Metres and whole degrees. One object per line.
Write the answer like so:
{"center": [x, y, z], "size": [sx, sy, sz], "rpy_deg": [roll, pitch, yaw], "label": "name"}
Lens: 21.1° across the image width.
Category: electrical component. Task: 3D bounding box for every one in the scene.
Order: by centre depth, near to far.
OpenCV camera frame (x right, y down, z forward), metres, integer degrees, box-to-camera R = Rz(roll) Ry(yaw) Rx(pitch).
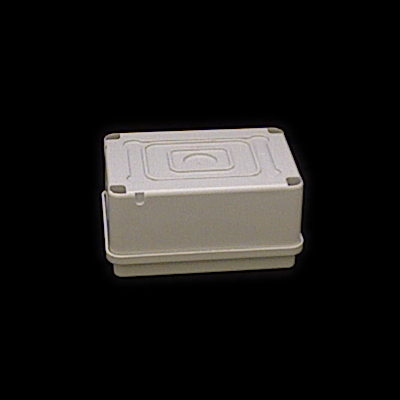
{"center": [0.000, 0.000, 0.635], "size": [0.113, 0.058, 0.077], "rpy_deg": [-2, 31, -6], "label": "electrical component"}
